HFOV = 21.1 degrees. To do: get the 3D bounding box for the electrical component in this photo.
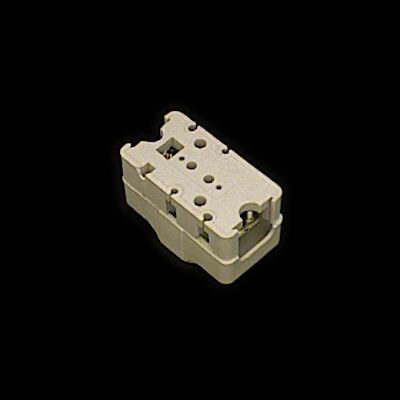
[{"bbox_3d":[0.000,0.000,0.637,0.089,0.056,0.050,38,63,25],"label":"electrical component"}]
